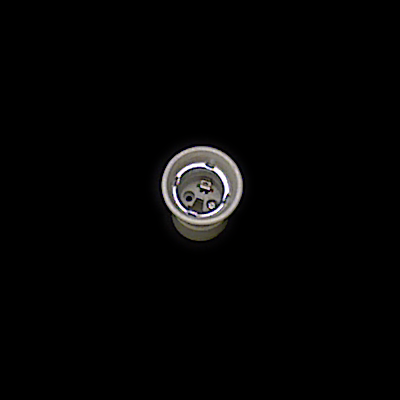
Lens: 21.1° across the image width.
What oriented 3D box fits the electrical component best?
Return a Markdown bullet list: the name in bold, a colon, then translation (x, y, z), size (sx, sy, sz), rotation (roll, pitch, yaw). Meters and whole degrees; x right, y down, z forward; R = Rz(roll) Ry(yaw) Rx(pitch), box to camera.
- **electrical component**: translation (0.000, 0.000, 0.624), size (0.044, 0.044, 0.065), rotation (0, -17, -1)
